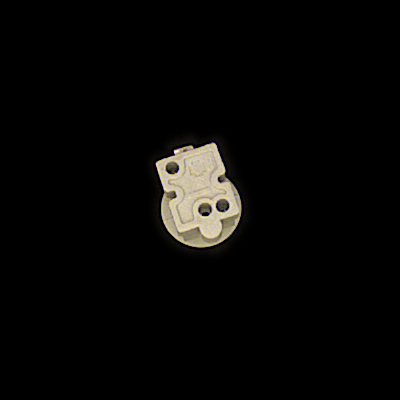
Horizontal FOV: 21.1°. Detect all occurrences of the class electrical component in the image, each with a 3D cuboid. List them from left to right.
[{"bbox_3d":[0.000,0.000,0.637,0.048,0.066,0.055,-18,-16,-4],"label":"electrical component"}]
